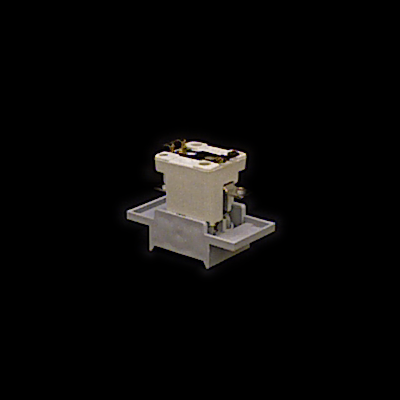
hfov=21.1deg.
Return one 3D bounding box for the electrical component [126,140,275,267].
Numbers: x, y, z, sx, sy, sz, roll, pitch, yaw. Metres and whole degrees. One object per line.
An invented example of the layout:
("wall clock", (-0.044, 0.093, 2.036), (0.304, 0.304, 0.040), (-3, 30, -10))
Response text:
("electrical component", (0.000, 0.000, 0.638), (0.080, 0.064, 0.042), (16, 26, 34))
